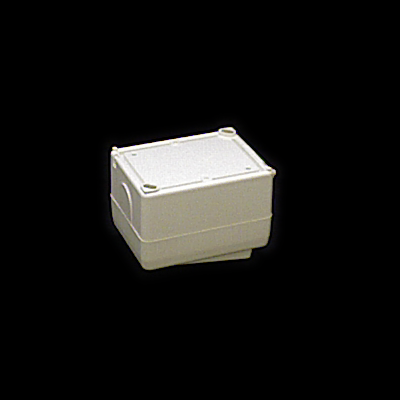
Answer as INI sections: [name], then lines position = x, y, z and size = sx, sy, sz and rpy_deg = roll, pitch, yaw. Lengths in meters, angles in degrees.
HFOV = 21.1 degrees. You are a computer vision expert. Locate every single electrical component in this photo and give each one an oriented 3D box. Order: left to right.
[electrical component]
position = 0.000, 0.000, 0.638
size = 0.096, 0.062, 0.061
rpy_deg = -11, 33, -19
